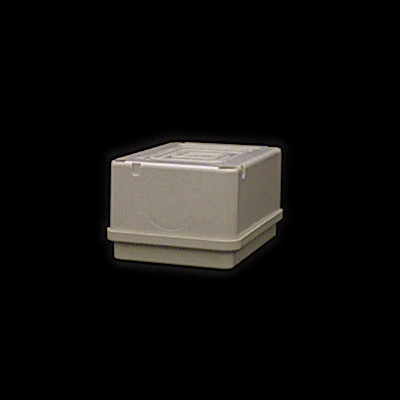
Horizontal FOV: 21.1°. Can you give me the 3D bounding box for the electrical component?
[{"bbox_3d":[0.000,0.000,0.645,0.078,0.057,0.112,4,10,17],"label":"electrical component"}]
